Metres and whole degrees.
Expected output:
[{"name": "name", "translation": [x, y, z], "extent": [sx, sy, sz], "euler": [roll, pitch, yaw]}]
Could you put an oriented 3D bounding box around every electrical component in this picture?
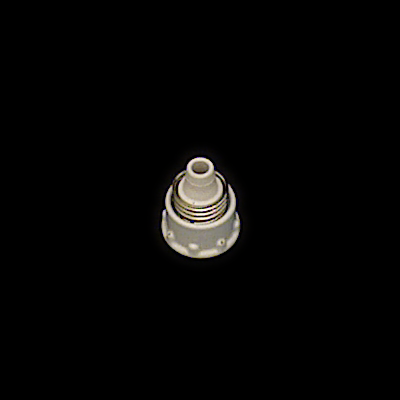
[{"name": "electrical component", "translation": [0.000, 0.000, 0.636], "extent": [0.048, 0.048, 0.062], "euler": [0, -38, -1]}]
